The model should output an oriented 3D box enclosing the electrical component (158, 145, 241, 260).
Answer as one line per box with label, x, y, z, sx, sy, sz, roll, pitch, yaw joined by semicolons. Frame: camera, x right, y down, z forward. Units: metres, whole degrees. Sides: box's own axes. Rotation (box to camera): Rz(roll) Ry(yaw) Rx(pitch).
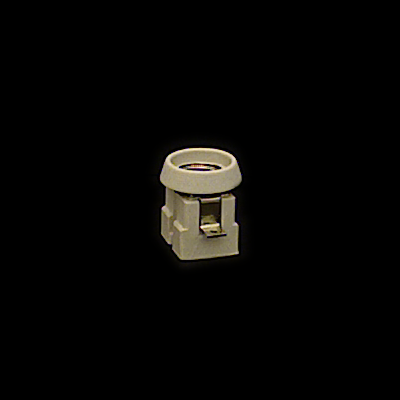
electrical component;0.000;0.000;0.646;0.048;0.056;0.065;-9;24;-18
